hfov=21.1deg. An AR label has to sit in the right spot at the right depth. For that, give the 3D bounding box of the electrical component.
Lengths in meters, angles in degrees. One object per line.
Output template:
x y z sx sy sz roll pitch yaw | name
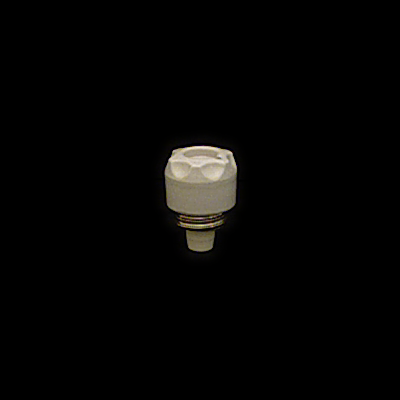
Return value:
0.000 0.000 0.646 0.043 0.063 0.043 0 22 0 | electrical component
